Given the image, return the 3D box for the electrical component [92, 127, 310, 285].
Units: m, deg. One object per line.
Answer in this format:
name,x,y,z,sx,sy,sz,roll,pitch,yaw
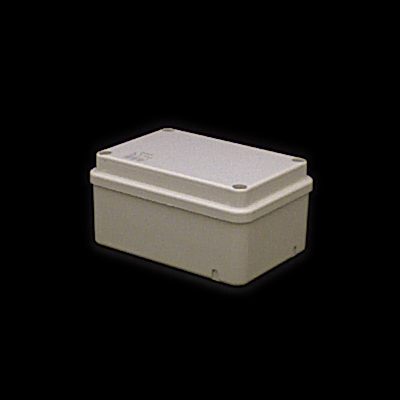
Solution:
electrical component,0.000,0.000,0.637,0.112,0.058,0.078,15,25,33
